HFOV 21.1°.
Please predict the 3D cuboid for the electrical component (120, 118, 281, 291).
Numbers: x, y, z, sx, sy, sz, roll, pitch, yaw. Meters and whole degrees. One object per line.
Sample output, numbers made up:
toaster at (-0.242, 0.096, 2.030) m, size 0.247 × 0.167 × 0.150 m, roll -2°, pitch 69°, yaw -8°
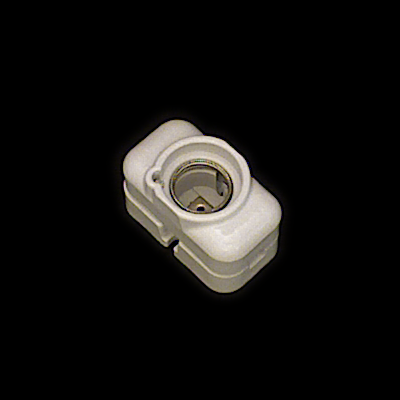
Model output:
electrical component at (0.000, 0.000, 0.633) m, size 0.095 × 0.054 × 0.059 m, roll 42°, pitch -20°, yaw 19°
